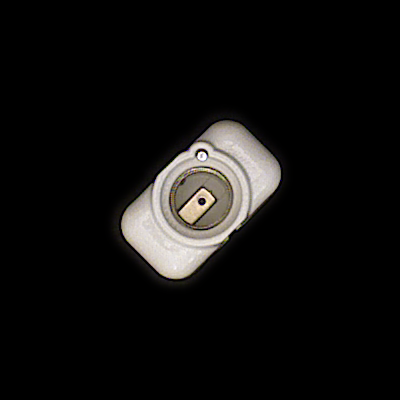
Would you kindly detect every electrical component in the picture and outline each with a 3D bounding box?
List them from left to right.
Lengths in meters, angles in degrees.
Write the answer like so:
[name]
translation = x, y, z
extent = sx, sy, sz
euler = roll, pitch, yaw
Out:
[electrical component]
translation = 0.000, 0.000, 0.635
extent = 0.054, 0.095, 0.059
euler = 44, -4, 4
